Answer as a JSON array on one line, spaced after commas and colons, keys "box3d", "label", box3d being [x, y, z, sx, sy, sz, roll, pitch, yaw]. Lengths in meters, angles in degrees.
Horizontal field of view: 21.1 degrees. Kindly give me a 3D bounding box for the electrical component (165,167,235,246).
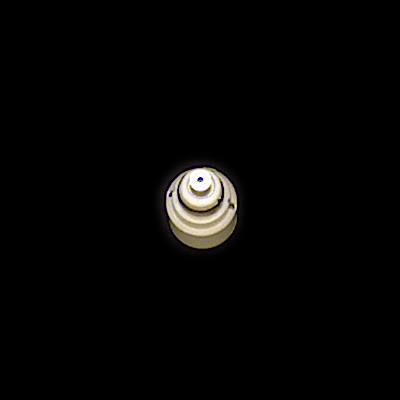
[{"box3d": [0.000, 0.000, 0.617, 0.040, 0.040, 0.078, 0, -16, 1], "label": "electrical component"}]
